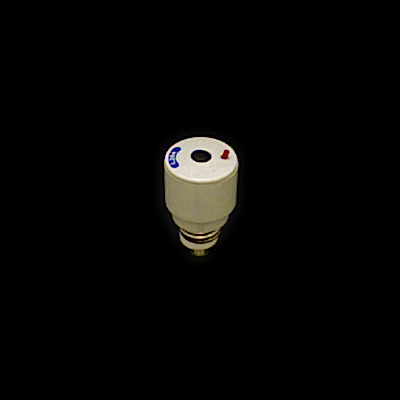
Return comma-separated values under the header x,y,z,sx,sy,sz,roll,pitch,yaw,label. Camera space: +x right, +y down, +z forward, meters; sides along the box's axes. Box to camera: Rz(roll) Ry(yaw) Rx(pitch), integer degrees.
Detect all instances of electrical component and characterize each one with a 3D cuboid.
x,y,z,sx,sy,sz,roll,pitch,yaw,label
0.000,0.000,0.623,0.040,0.079,0.039,1,42,-1,electrical component
